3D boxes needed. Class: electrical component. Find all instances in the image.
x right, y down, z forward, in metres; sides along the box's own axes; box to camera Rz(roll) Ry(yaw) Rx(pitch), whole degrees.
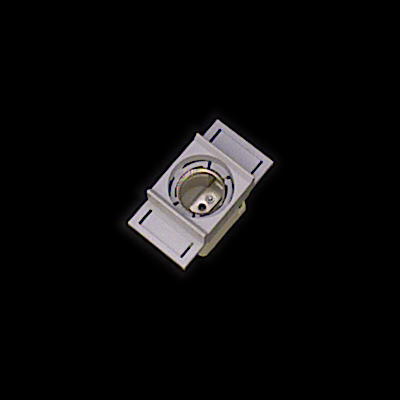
[{"bbox_3d":[0.000,0.000,0.624,0.042,0.081,0.063,38,-12,12],"label":"electrical component"}]
